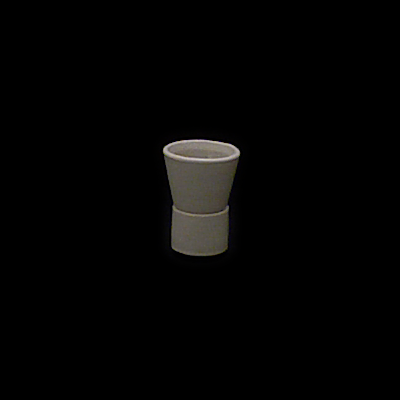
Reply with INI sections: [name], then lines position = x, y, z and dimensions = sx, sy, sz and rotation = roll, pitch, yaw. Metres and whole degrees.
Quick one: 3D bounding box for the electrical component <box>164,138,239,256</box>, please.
[electrical component]
position = 0.000, 0.000, 0.640
dimensions = 0.044, 0.066, 0.044
rotation = 1, 20, 0
